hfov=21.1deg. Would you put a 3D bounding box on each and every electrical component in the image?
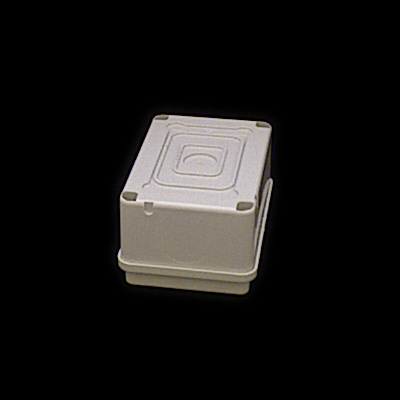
[{"bbox_3d":[0.000,0.000,0.635,0.078,0.058,0.112,5,31,7],"label":"electrical component"}]
